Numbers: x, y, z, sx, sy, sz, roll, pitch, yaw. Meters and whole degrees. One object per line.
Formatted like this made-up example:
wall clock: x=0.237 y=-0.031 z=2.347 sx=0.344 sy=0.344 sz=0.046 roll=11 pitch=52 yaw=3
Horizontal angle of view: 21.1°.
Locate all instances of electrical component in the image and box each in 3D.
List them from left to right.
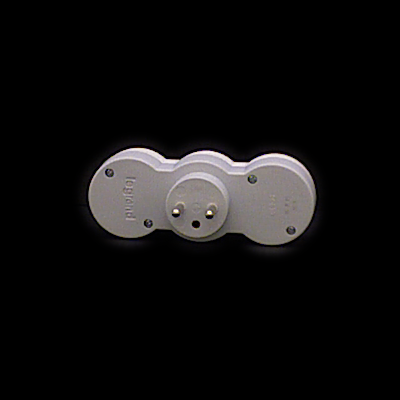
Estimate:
electrical component: x=0.000 y=0.000 z=0.645 sx=0.138 sy=0.052 sz=0.073 roll=3 pitch=13 yaw=6
